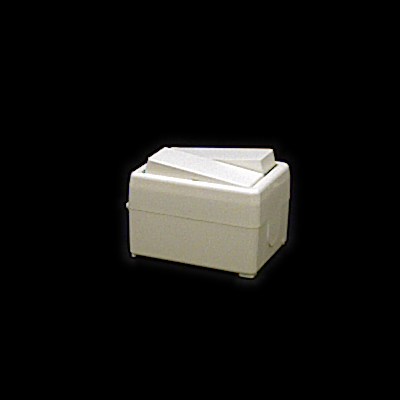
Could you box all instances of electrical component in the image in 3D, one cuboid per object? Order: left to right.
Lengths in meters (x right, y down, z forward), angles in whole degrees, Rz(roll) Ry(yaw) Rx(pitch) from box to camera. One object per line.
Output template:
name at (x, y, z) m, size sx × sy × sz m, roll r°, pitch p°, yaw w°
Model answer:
electrical component at (0.000, 0.000, 0.640) m, size 0.096 × 0.061 × 0.061 m, roll 9°, pitch 22°, yaw 20°
